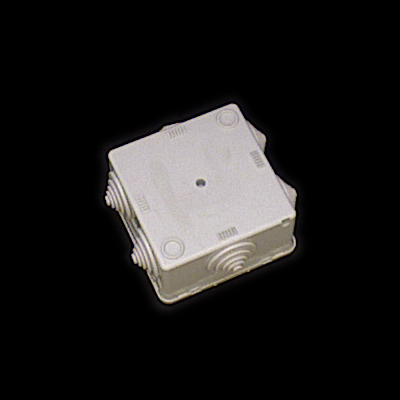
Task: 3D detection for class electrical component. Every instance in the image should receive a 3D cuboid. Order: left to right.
[{"bbox_3d":[0.000,0.000,0.631,0.100,0.099,0.048,-22,-25,-11],"label":"electrical component"}]
